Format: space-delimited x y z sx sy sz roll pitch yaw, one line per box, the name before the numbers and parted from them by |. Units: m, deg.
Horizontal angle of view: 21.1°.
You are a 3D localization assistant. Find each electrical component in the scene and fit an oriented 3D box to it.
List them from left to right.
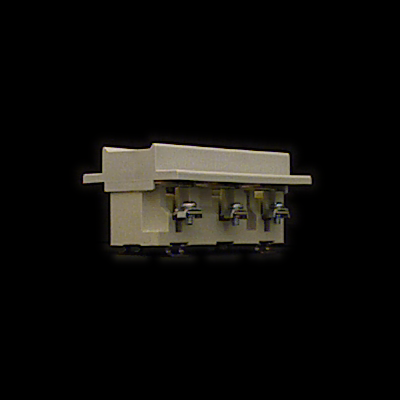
electrical component | 0.000 0.000 0.662 0.078 0.063 0.122 0 0 43
